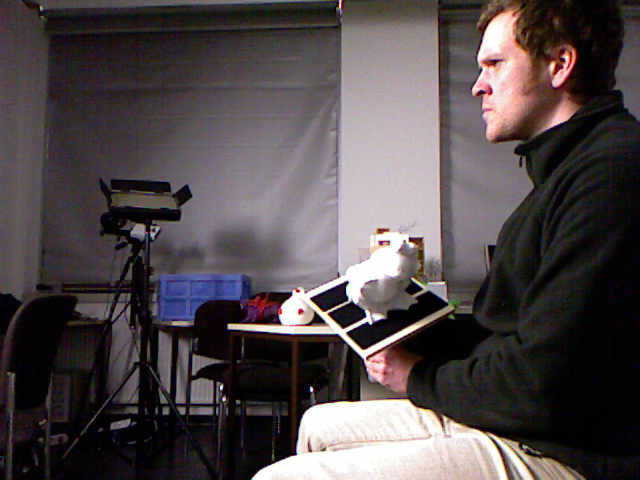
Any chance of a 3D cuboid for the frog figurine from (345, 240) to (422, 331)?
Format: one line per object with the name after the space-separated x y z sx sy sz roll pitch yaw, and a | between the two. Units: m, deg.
0.111 0.059 0.910 0.138 0.156 0.125 -10 35 -12 | frog figurine
